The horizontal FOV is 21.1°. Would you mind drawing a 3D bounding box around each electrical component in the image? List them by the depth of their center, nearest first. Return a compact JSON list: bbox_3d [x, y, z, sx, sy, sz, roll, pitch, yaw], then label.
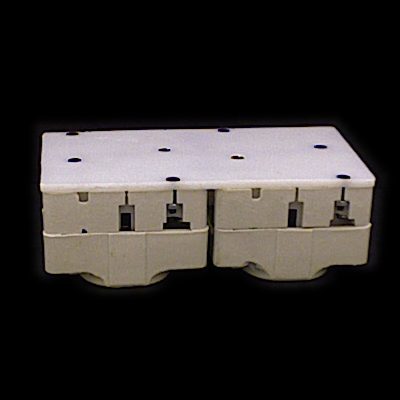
[{"bbox_3d":[0.000,0.000,0.638,0.186,0.061,0.104,-1,21,-7],"label":"electrical component"}]
